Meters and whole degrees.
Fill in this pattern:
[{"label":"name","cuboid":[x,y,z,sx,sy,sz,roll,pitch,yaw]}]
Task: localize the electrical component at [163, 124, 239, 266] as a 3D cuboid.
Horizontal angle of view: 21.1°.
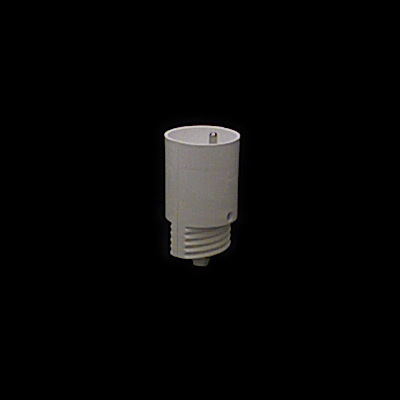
[{"label":"electrical component","cuboid":[0.000,0.000,0.637,0.043,0.082,0.042,2,21,0]}]
